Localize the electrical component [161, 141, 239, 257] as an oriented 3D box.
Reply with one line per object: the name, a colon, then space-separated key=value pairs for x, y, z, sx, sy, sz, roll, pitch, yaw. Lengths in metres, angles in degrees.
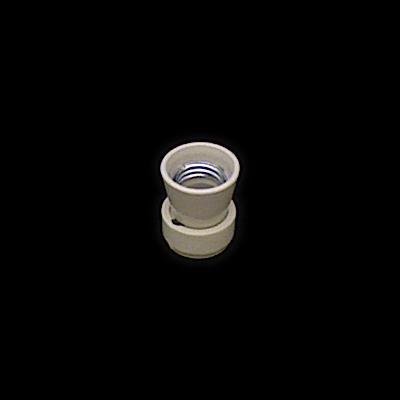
electrical component: x=0.000 y=0.000 z=0.632 sx=0.045 sy=0.056 sz=0.044 roll=1 pitch=43 yaw=0
